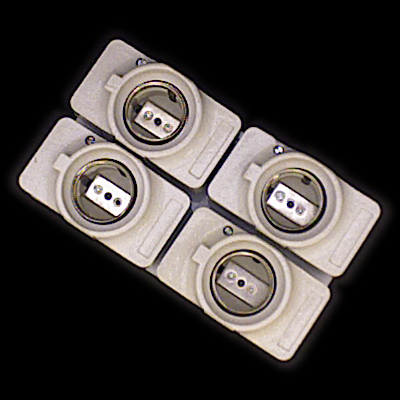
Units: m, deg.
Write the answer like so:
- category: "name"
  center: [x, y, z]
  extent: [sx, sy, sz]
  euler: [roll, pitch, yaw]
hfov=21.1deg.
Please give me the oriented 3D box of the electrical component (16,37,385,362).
- category: "electrical component"
  center: [0.000, 0.000, 0.626]
  extent: [0.186, 0.106, 0.060]
  euler: [33, -6, 4]
